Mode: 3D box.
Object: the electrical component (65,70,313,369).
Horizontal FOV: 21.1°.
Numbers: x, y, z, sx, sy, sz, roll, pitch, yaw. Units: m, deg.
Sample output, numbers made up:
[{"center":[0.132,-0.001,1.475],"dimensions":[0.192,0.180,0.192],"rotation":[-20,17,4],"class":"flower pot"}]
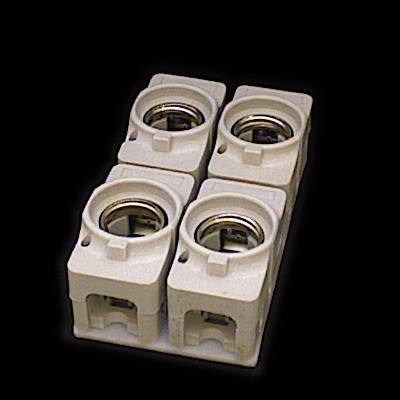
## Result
[{"center":[0.000,0.000,0.629],"dimensions":[0.105,0.061,0.184],"rotation":[9,43,9],"class":"electrical component"}]
